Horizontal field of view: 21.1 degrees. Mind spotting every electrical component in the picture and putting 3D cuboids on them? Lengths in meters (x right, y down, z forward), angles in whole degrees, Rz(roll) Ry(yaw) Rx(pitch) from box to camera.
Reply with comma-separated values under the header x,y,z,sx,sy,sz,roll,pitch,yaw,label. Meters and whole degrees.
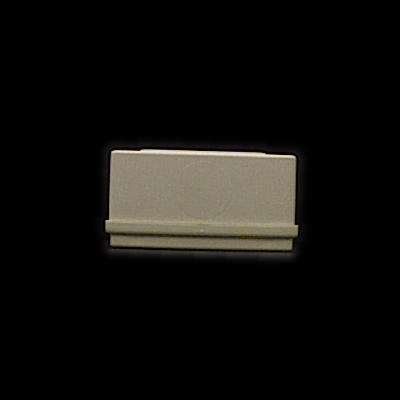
x,y,z,sx,sy,sz,roll,pitch,yaw,label
0.000,0.000,0.652,0.109,0.056,0.108,2,0,-2,electrical component
